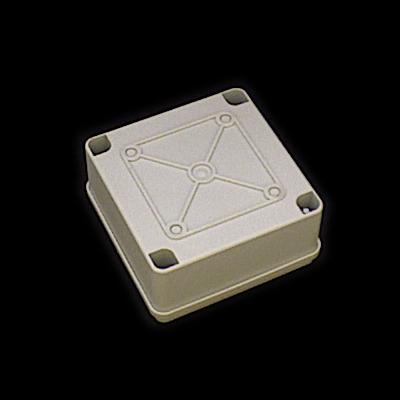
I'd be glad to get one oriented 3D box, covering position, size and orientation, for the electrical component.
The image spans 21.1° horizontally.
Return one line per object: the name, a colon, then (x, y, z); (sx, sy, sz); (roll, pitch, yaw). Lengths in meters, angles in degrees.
electrical component: (0.000, 0.000, 0.630); (0.109, 0.108, 0.056); (-21, -34, -16)
